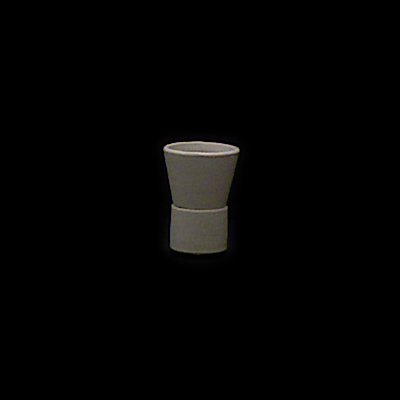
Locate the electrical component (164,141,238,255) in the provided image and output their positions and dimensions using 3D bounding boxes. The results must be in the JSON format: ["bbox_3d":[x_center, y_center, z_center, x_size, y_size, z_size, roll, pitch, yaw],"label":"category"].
[{"bbox_3d":[0.000,0.000,0.642,0.044,0.066,0.044,2,12,0],"label":"electrical component"}]
